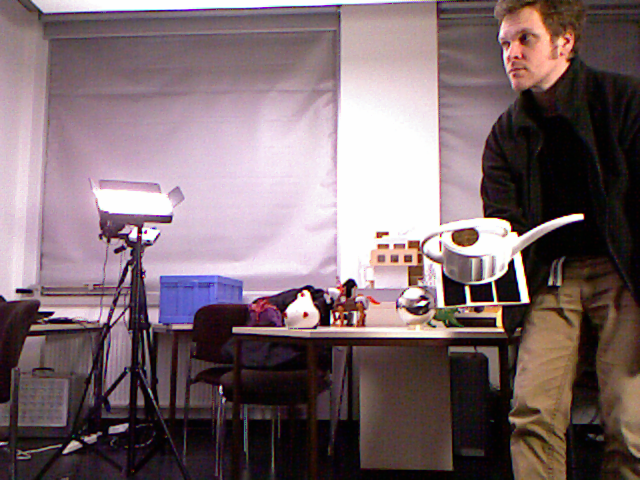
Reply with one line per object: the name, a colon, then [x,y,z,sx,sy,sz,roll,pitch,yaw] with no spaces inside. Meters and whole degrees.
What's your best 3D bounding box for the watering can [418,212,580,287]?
watering can: [0.409,0.018,1.207,0.348,0.107,0.220,-5,-35,12]
